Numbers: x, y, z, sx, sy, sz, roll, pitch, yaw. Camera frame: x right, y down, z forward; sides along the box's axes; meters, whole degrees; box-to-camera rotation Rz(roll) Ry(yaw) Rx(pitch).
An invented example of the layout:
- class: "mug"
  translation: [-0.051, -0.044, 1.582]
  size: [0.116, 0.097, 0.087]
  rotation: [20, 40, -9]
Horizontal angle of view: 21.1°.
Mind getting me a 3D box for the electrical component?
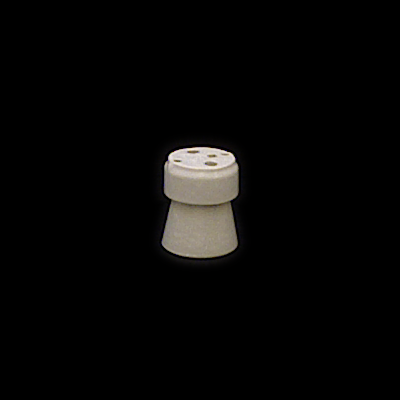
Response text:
- class: "electrical component"
  translation: [0.000, 0.000, 0.639]
  size: [0.045, 0.056, 0.044]
  rotation: [1, 22, 0]
